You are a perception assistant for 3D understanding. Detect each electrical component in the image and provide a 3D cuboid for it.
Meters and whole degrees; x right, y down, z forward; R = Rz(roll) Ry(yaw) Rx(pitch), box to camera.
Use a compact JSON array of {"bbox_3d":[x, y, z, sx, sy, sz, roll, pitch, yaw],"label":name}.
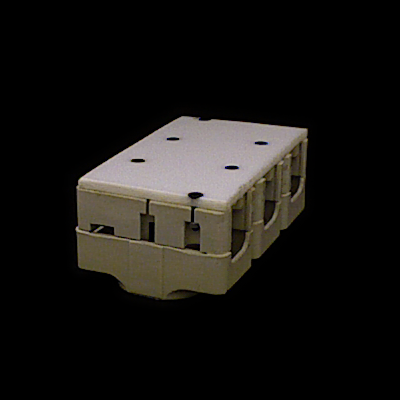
[{"bbox_3d":[0.000,0.000,0.642,0.089,0.063,0.147,9,22,20],"label":"electrical component"}]
